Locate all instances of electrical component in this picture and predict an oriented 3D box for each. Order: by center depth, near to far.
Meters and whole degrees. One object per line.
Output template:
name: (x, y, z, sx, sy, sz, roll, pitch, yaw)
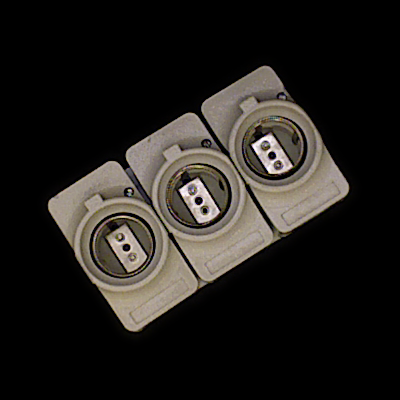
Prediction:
electrical component: (0.000, 0.000, 0.632, 0.150, 0.089, 0.061, -33, -6, -4)
